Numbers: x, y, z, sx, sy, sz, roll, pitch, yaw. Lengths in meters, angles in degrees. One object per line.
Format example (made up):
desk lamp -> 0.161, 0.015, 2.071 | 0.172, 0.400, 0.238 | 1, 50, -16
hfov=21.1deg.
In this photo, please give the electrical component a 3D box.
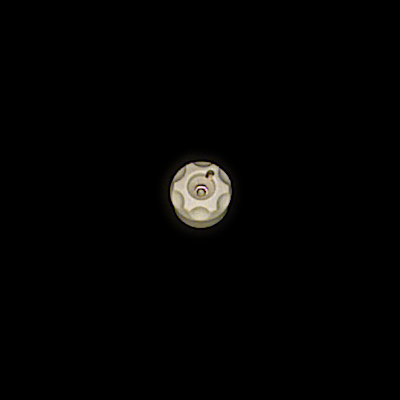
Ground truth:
electrical component -> 0.000, 0.000, 0.634 | 0.035, 0.035, 0.061 | 0, -16, 1
